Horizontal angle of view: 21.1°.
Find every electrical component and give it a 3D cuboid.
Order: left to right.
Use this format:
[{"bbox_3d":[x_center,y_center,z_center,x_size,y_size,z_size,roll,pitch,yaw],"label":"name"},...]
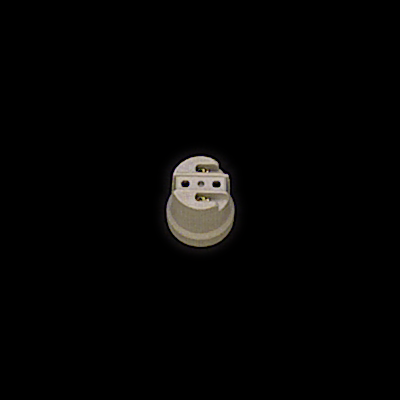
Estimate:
[{"bbox_3d":[0.000,0.000,0.632,0.040,0.040,0.046,0,-26,0],"label":"electrical component"}]
